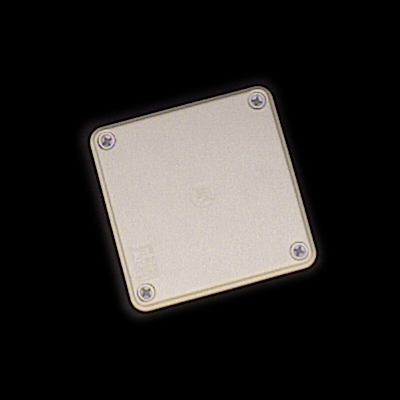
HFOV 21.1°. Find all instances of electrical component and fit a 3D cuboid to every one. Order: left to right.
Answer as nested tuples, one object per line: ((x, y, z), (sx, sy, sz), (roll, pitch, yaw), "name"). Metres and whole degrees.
((0.000, 0.000, 0.631), (0.109, 0.109, 0.056), (-15, -7, -2), "electrical component")
